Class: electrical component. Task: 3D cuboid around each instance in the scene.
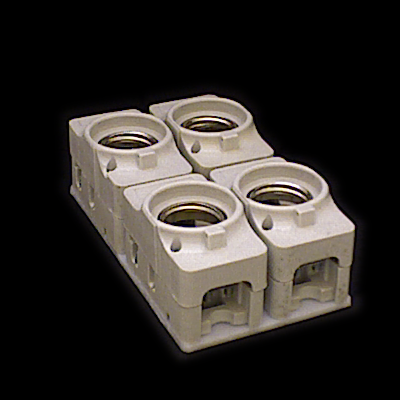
[{"bbox_3d":[0.000,0.000,0.634,0.105,0.061,0.184,-13,34,-21],"label":"electrical component"}]
